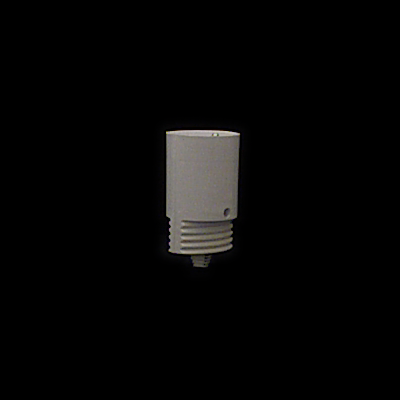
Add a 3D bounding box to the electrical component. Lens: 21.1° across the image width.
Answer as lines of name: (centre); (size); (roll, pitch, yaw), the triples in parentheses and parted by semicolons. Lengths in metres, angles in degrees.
electrical component: (0.000, 0.000, 0.645); (0.043, 0.082, 0.042); (2, 11, 0)
